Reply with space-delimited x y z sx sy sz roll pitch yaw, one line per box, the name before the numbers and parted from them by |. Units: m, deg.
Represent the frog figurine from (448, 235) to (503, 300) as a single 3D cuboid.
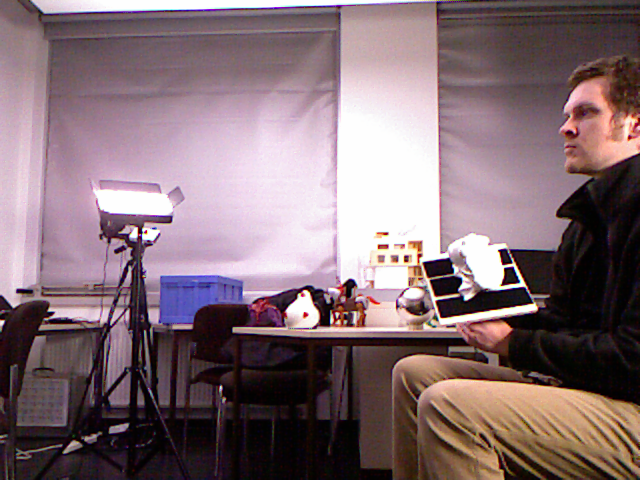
frog figurine | 0.340 0.041 1.119 0.123 0.141 0.156 9 -39 17
